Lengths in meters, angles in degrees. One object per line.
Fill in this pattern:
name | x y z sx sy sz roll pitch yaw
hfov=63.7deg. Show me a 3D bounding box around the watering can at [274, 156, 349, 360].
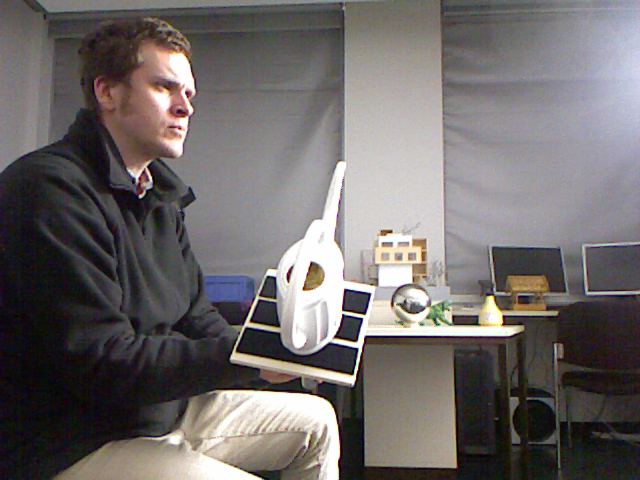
watering can | -0.001 0.043 0.839 0.104 0.357 0.219 11 -40 11
